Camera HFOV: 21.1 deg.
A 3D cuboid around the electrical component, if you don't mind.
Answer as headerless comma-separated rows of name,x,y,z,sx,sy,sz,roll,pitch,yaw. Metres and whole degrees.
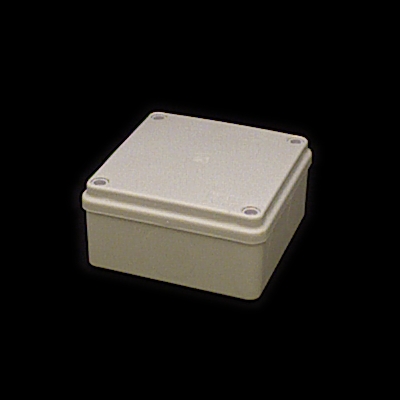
electrical component,0.000,0.000,0.637,0.108,0.057,0.108,11,32,16
